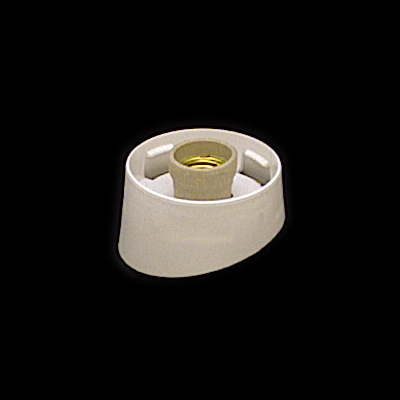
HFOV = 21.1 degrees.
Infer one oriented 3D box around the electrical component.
[{"bbox_3d":[0.000,0.000,0.634,0.099,0.065,0.097,0,31,0],"label":"electrical component"}]
